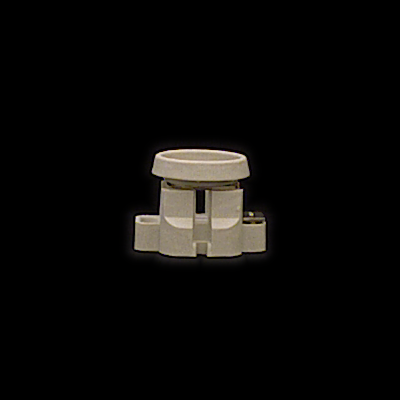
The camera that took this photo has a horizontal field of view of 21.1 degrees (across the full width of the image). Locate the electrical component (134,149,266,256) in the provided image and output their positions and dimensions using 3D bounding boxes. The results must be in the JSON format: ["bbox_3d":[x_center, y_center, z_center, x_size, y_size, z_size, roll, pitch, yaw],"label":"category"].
[{"bbox_3d":[0.000,0.000,0.645,0.078,0.057,0.057,1,11,-3],"label":"electrical component"}]
